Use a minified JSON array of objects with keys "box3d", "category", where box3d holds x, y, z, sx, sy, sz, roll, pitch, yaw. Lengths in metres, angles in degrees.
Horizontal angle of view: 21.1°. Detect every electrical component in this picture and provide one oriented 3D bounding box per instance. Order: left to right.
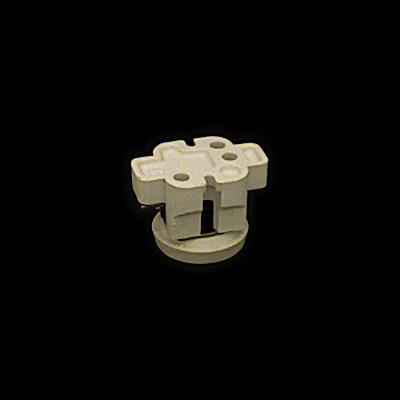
[{"box3d":[0.000,0.000,0.641,0.079,0.057,0.057,-10,35,-14],"category":"electrical component"}]
